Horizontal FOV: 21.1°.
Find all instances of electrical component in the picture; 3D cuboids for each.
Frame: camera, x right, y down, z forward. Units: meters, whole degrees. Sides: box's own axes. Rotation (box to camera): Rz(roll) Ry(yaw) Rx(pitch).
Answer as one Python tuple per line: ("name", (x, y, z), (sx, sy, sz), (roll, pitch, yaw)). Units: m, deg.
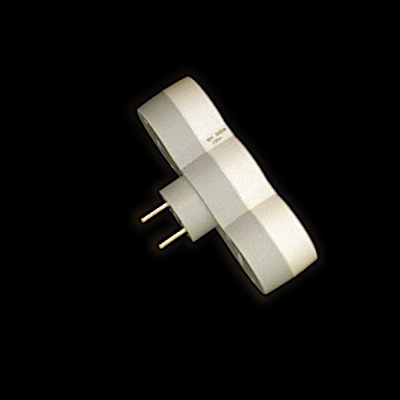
("electrical component", (0.000, 0.000, 0.637), (0.074, 0.138, 0.052), (-34, -13, -7))
